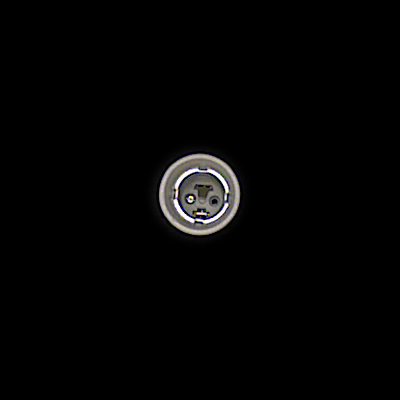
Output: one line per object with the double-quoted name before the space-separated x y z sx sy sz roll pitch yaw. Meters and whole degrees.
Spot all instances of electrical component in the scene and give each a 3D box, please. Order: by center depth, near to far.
"electrical component" 0.000 0.000 0.625 0.044 0.044 0.065 0 -6 2
